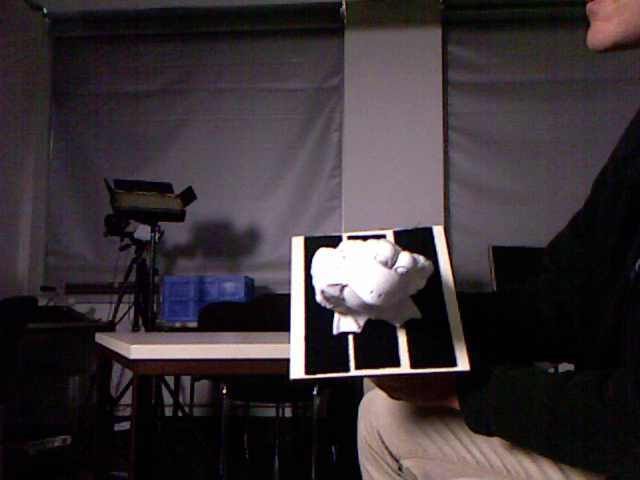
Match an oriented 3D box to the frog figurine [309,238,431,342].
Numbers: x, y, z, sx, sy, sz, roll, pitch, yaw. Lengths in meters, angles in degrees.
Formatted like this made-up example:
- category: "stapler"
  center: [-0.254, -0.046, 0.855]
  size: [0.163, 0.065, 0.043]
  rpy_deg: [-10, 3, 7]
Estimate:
- category: "frog figurine"
  center: [0.054, 0.034, 0.571]
  size: [0.138, 0.126, 0.156]
  rpy_deg: [3, -35, 7]
